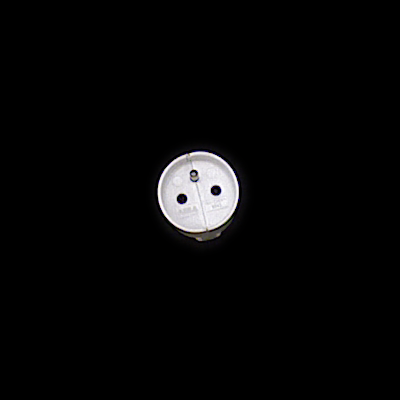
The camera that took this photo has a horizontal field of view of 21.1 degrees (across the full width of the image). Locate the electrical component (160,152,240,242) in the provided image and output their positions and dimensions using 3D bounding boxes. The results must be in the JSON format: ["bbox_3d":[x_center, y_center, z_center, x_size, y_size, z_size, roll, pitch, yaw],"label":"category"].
[{"bbox_3d":[0.000,0.000,0.616,0.043,0.043,0.080,0,-7,0],"label":"electrical component"}]
